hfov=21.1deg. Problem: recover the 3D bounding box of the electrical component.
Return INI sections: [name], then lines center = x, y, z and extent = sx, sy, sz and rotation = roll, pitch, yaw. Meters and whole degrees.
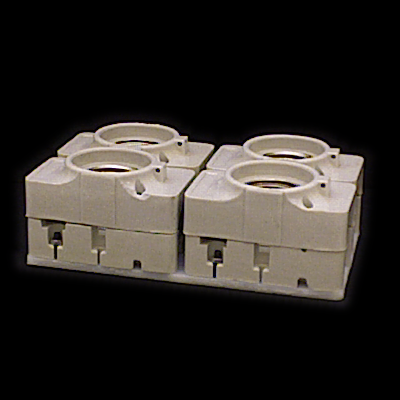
[electrical component]
center = 0.000, 0.000, 0.639
extent = 0.186, 0.061, 0.104
rotation = 6, 21, 11
